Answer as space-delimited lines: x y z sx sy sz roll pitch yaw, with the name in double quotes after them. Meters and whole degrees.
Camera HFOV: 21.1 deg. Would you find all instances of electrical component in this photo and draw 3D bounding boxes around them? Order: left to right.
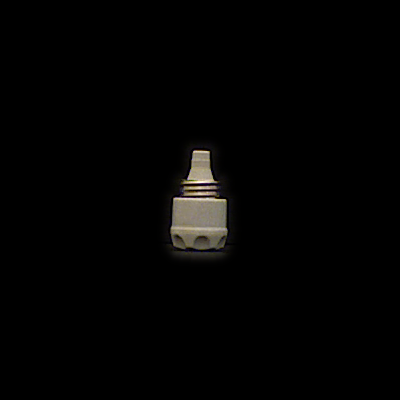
0.000 0.000 0.664 0.035 0.061 0.035 1 3 0 "electrical component"
